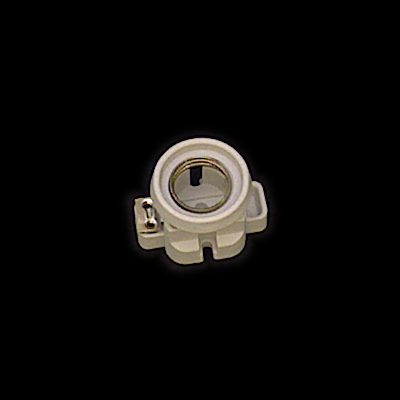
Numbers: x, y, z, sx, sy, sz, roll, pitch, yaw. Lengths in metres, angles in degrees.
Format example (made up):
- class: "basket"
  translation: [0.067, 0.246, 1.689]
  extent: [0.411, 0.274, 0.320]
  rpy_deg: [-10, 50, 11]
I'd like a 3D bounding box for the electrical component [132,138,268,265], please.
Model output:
- class: "electrical component"
  translation: [0.000, 0.000, 0.628]
  extent: [0.078, 0.058, 0.056]
  rpy_deg: [-9, -27, -5]
